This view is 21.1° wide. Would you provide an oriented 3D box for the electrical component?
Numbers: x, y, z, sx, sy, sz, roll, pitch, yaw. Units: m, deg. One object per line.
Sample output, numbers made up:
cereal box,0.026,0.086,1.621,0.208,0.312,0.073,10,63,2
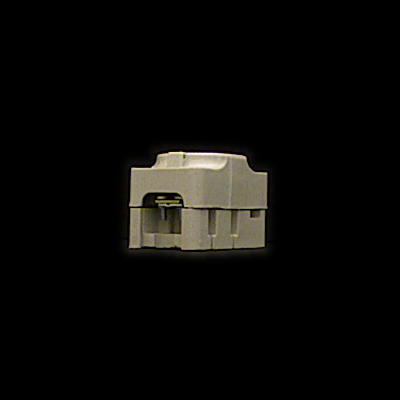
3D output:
electrical component,0.000,0.000,0.657,0.050,0.056,0.090,2,1,29
